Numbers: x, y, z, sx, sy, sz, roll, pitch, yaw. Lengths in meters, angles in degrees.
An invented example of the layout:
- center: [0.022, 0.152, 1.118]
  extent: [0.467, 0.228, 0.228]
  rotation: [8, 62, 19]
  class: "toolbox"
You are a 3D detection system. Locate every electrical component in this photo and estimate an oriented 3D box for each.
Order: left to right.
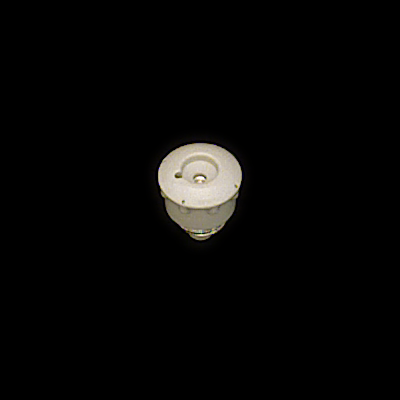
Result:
- center: [0.000, 0.000, 0.633]
  extent: [0.048, 0.048, 0.062]
  rotation: [0, -37, 0]
  class: "electrical component"
